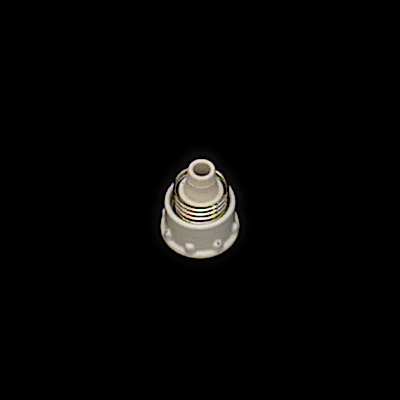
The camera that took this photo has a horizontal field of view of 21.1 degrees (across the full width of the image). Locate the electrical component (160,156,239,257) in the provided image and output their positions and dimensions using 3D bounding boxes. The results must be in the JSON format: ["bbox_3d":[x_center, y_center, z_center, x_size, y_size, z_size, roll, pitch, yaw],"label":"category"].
[{"bbox_3d":[0.000,0.000,0.636,0.048,0.048,0.062,0,-37,-2],"label":"electrical component"}]
